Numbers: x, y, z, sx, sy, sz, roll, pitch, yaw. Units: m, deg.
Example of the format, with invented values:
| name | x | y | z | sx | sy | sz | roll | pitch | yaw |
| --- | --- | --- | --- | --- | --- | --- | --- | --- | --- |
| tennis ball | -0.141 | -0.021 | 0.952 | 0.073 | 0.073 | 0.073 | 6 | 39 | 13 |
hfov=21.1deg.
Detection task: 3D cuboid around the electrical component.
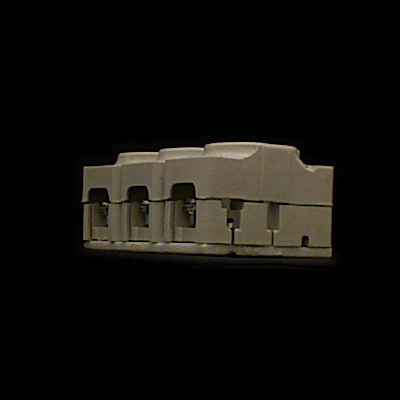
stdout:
| name | x | y | z | sx | sy | sz | roll | pitch | yaw |
| --- | --- | --- | --- | --- | --- | --- | --- | --- | --- |
| electrical component | 0.000 | 0.000 | 0.658 | 0.090 | 0.062 | 0.150 | 2 | -1 | -33 |
